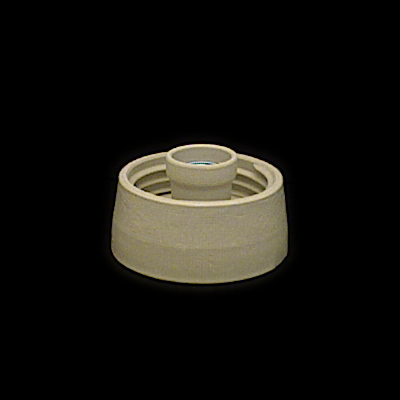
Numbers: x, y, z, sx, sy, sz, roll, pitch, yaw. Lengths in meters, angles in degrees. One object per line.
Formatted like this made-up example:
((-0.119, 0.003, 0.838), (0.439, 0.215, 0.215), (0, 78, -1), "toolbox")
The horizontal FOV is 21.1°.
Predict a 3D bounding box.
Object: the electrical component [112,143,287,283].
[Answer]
((0.000, 0.000, 0.646), (0.108, 0.061, 0.106), (1, 21, 0), "electrical component")
